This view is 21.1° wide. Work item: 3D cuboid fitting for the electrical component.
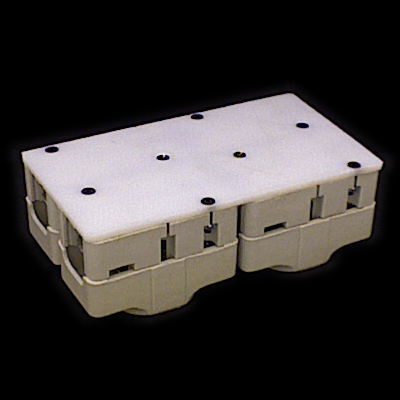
[{"bbox_3d":[0.000,0.000,0.633,0.186,0.061,0.104,-14,34,-24],"label":"electrical component"}]
